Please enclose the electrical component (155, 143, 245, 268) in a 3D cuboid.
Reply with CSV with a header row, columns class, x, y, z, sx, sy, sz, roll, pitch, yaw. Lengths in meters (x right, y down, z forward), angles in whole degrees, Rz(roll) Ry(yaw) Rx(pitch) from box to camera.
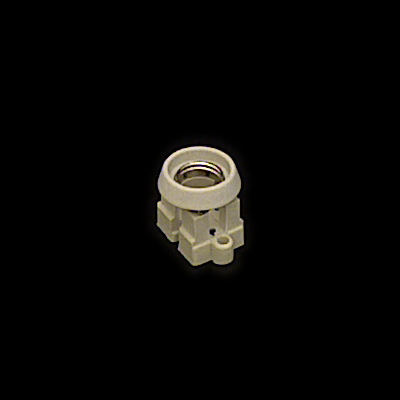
class,x,y,z,sx,sy,sz,roll,pitch,yaw
electrical component,0.000,0.000,0.640,0.049,0.056,0.065,-23,48,-26
